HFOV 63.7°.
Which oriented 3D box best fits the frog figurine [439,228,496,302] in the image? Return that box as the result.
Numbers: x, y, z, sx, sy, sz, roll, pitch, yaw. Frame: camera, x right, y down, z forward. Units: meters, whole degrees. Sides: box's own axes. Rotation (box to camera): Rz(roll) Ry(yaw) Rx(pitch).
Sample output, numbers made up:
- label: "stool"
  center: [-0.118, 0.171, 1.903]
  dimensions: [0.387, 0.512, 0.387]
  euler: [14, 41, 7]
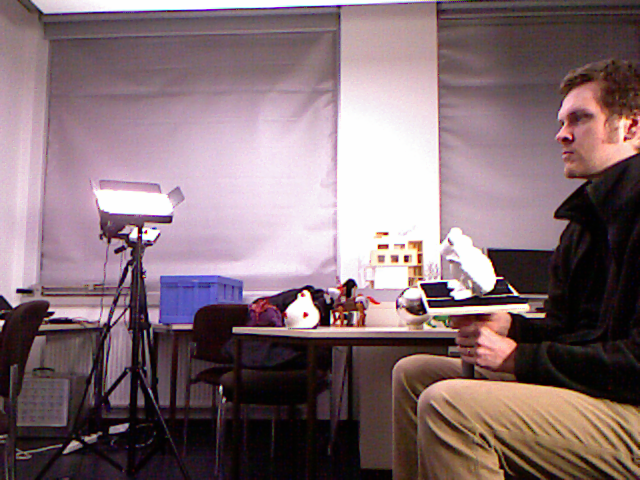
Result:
- label: "frog figurine"
  center: [0.332, 0.046, 1.162]
  dimensions: [0.123, 0.158, 0.139]
  euler: [2, 17, 22]
